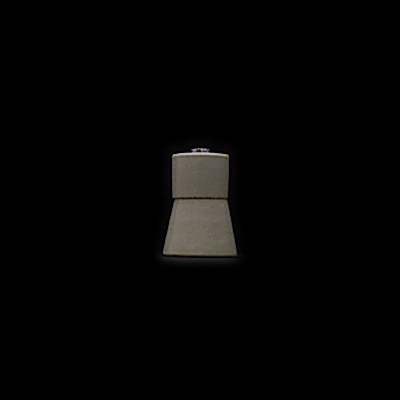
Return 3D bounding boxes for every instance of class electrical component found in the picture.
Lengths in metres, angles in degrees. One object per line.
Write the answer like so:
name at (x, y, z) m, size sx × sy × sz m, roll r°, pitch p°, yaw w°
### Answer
electrical component at (0.000, 0.000, 0.651) m, size 0.044 × 0.065 × 0.044 m, roll 0°, pitch 1°, yaw 0°
